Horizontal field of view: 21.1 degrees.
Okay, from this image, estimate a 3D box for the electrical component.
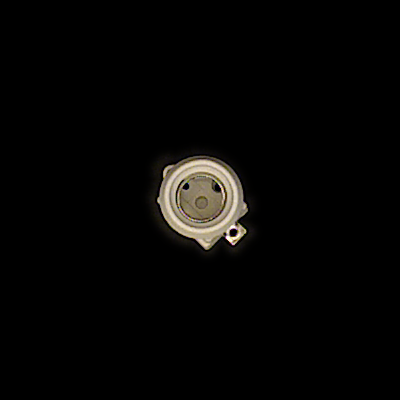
[{"bbox_3d":[0.000,0.000,0.639,0.066,0.048,0.055,43,-2,4],"label":"electrical component"}]
